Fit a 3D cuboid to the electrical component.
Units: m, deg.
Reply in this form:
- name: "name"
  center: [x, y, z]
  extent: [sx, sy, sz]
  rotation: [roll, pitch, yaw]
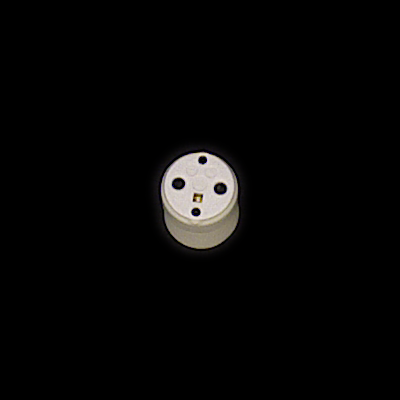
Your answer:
- name: "electrical component"
  center: [0.000, 0.000, 0.629]
  extent: [0.045, 0.045, 0.055]
  rotation: [0, -17, 1]
